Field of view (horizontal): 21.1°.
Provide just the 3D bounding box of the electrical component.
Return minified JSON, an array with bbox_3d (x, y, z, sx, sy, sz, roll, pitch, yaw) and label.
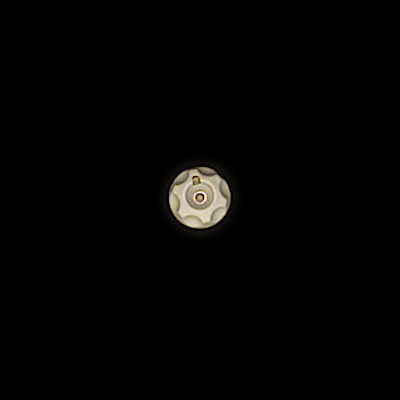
[{"bbox_3d":[0.000,0.000,0.635,0.035,0.035,0.061,0,-6,1],"label":"electrical component"}]
